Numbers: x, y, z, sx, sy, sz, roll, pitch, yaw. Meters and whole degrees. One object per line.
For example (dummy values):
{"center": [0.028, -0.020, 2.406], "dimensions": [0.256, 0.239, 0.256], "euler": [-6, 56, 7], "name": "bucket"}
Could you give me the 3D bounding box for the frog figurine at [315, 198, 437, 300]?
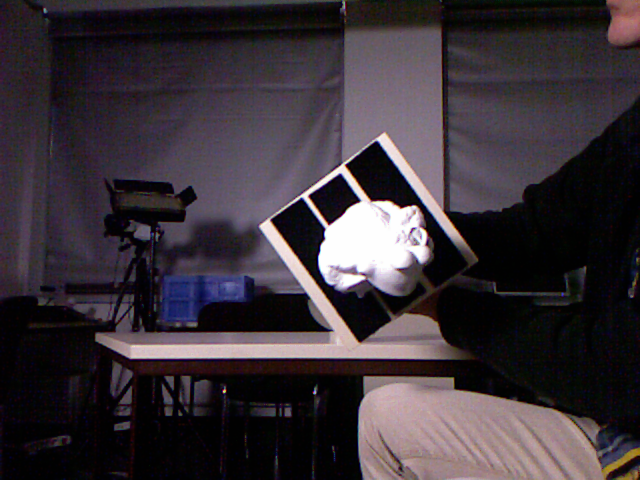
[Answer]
{"center": [0.060, 0.010, 0.590], "dimensions": [0.138, 0.123, 0.159], "euler": [-26, -2, -2], "name": "frog figurine"}
